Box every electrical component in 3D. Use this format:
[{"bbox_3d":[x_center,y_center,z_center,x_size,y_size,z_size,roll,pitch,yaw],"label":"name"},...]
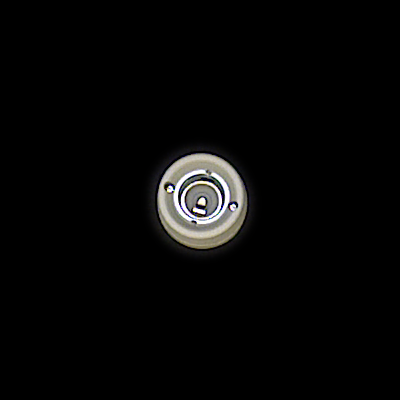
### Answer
[{"bbox_3d":[0.000,0.000,0.634,0.055,0.055,0.047,0,-7,1],"label":"electrical component"}]
